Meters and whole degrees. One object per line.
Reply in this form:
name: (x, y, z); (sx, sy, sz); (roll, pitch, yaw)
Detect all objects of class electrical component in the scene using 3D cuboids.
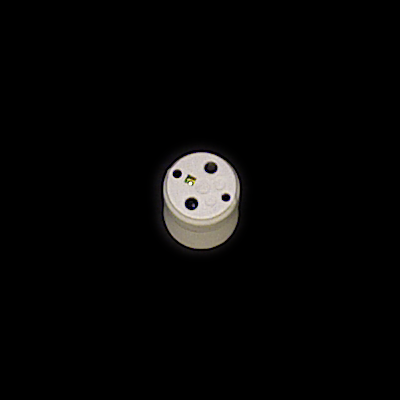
electrical component: (0.000, 0.000, 0.629); (0.045, 0.045, 0.055); (0, -17, 0)
